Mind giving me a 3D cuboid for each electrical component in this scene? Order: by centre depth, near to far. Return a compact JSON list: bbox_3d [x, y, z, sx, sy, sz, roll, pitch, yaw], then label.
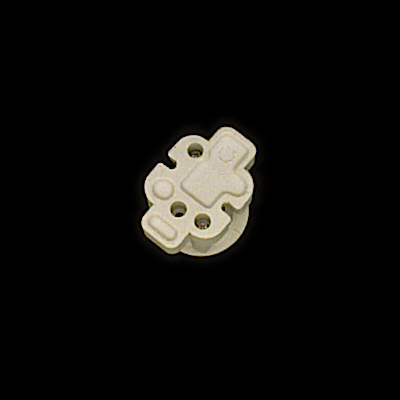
[{"bbox_3d":[0.000,0.000,0.636,0.058,0.079,0.056,37,-14,11],"label":"electrical component"}]
